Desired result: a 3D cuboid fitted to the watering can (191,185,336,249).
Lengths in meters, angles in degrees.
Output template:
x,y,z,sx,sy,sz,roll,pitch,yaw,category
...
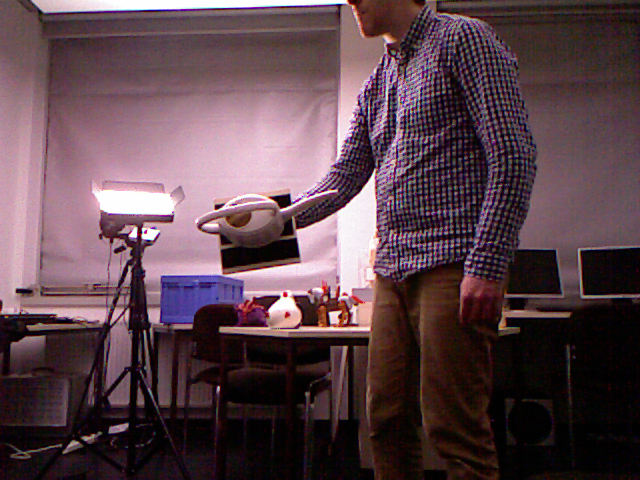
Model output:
x,y,z,sx,sy,sz,roll,pitch,yaw,category
-0.129,-0.055,1.246,0.348,0.105,0.222,-11,-13,-1,watering can
